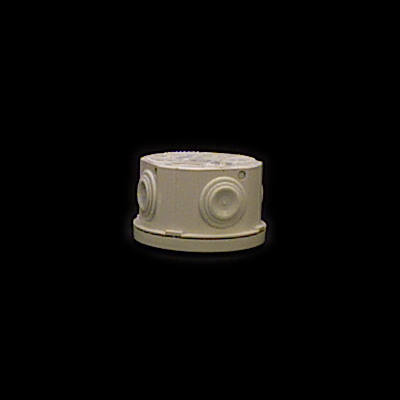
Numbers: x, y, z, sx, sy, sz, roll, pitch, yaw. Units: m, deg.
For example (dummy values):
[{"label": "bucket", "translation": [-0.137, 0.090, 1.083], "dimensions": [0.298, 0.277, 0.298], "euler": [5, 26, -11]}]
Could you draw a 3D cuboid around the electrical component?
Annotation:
[{"label": "electrical component", "translation": [0.000, 0.000, 0.645], "dimensions": [0.080, 0.051, 0.079], "euler": [2, 11, 0]}]
